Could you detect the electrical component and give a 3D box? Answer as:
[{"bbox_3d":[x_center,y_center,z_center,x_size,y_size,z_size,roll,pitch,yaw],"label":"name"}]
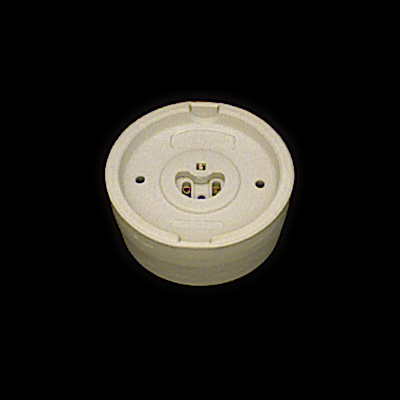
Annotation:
[{"bbox_3d":[0.000,0.000,0.637,0.108,0.107,0.061,0,-37,0],"label":"electrical component"}]
